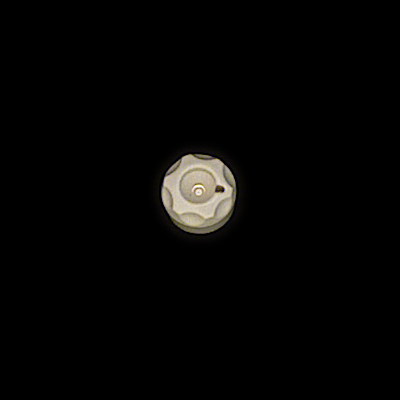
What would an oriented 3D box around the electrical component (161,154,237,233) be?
[{"bbox_3d":[0.000,0.000,0.634,0.043,0.043,0.061,0,-16,1],"label":"electrical component"}]
